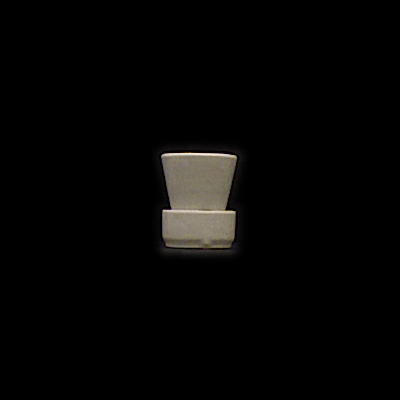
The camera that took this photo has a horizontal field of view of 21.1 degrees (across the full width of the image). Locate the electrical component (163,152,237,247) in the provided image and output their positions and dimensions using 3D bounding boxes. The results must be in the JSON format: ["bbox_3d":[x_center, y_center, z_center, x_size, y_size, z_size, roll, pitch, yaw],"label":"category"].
[{"bbox_3d":[0.000,0.000,0.648,0.045,0.055,0.045,1,1,0],"label":"electrical component"}]
